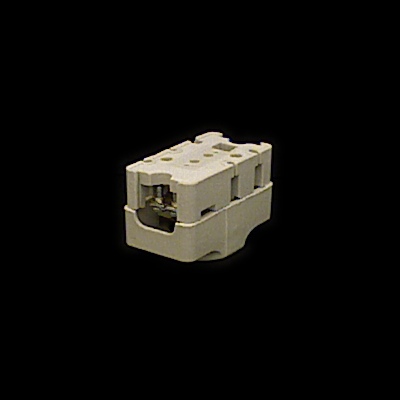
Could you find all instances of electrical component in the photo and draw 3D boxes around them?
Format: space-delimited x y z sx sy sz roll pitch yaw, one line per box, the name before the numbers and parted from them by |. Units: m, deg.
electrical component | 0.000 0.000 0.647 0.049 0.056 0.090 15 25 32
